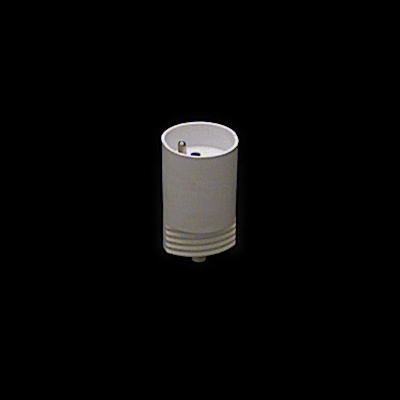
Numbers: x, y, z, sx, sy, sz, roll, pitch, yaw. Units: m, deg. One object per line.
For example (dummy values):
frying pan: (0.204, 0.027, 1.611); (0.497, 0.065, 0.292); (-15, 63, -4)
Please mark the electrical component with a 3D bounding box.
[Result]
electrical component: (0.000, 0.000, 0.626); (0.043, 0.082, 0.042); (0, 31, 0)
